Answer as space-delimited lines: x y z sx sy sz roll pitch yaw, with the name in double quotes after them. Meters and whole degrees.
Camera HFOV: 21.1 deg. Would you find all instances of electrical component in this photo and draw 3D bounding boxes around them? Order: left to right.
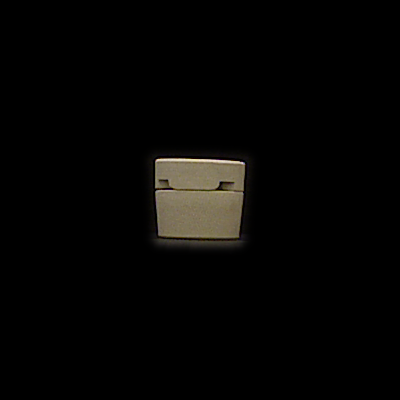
0.000 0.000 0.651 0.055 0.047 0.055 1 1 0 "electrical component"
